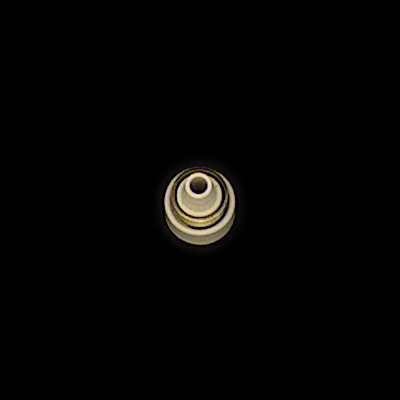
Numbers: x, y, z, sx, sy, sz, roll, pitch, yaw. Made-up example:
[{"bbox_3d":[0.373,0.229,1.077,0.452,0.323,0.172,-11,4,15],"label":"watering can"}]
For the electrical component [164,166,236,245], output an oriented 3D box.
[{"bbox_3d":[0.000,0.000,0.634,0.043,0.043,0.061,0,-17,0],"label":"electrical component"}]
